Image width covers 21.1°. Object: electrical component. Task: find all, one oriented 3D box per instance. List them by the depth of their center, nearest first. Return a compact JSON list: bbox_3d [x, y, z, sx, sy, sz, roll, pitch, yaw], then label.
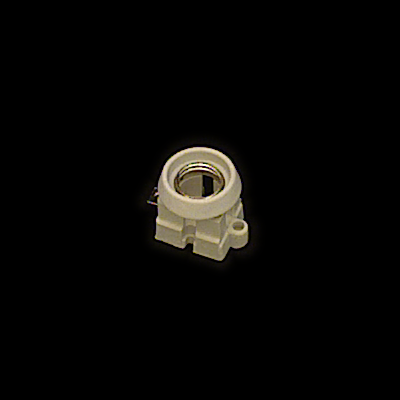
[{"bbox_3d":[0.000,0.000,0.637,0.066,0.048,0.055,17,-37,12],"label":"electrical component"}]
